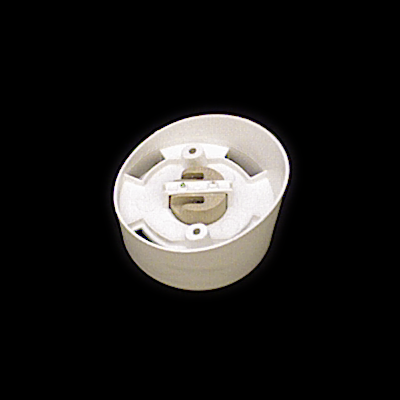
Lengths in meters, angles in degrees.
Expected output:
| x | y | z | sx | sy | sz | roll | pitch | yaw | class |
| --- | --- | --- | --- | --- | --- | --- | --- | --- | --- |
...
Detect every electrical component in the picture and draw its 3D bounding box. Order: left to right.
| x | y | z | sx | sy | sz | roll | pitch | yaw | class |
| --- | --- | --- | --- | --- | --- | --- | --- | --- | --- |
| 0.000 | 0.000 | 0.626 | 0.099 | 0.098 | 0.064 | 0 | -38 | -2 | electrical component |
